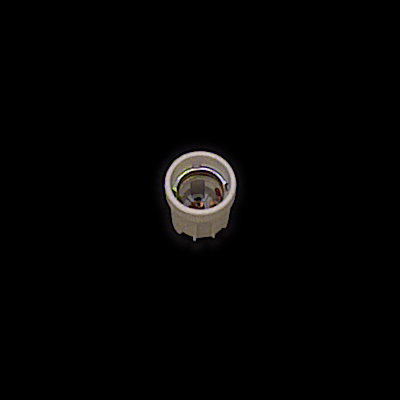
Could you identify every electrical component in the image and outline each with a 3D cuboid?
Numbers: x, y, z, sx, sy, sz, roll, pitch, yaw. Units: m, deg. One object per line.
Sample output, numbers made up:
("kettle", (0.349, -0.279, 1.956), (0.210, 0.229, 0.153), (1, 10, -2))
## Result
("electrical component", (0.000, 0.000, 0.627), (0.040, 0.040, 0.046), (0, -27, 0))
